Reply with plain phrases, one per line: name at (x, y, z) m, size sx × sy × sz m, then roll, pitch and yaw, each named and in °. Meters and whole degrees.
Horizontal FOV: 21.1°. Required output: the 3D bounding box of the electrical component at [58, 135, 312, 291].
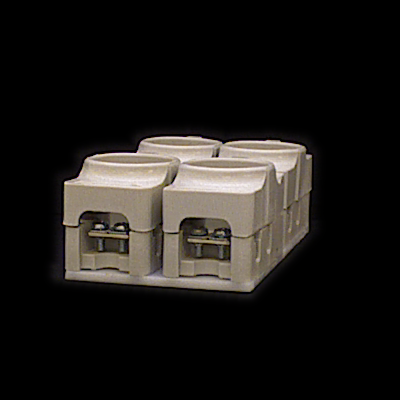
electrical component at (0.000, 0.000, 0.644) m, size 0.105 × 0.060 × 0.185 m, roll 4°, pitch 10°, yaw 15°
